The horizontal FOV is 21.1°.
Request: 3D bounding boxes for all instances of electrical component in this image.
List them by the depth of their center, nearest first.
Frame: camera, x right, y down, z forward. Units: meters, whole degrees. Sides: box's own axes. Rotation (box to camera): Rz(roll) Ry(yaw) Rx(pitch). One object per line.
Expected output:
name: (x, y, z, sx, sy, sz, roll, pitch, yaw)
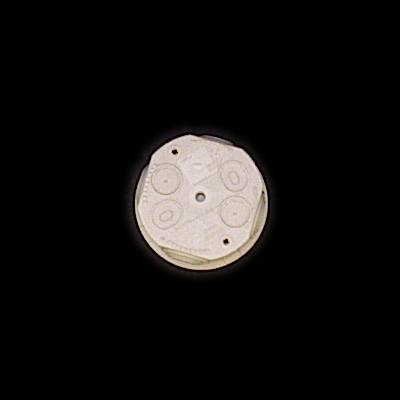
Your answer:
electrical component: (0.000, 0.000, 0.634, 0.080, 0.080, 0.050, 0, -7, 1)
